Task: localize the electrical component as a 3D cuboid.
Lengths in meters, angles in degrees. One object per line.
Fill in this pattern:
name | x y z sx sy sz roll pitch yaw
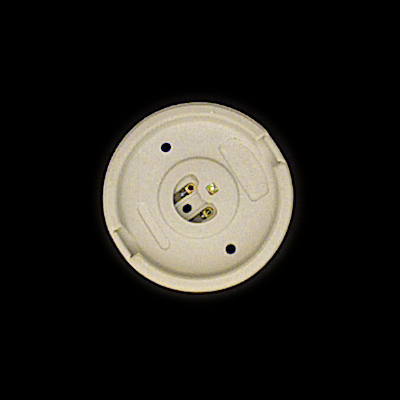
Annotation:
electrical component | 0.000 0.000 0.635 0.108 0.108 0.060 0 -6 0
